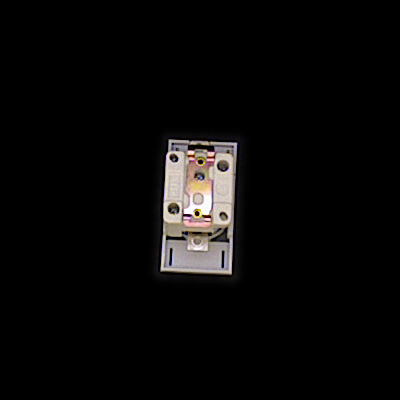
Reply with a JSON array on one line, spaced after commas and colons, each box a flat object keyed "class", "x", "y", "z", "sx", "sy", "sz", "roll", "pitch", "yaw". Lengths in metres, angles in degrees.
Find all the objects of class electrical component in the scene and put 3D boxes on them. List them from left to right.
[{"class": "electrical component", "x": 0.000, "y": 0.000, "z": 0.625, "sx": 0.042, "sy": 0.081, "sz": 0.063, "roll": 2, "pitch": -17, "yaw": 0}]
